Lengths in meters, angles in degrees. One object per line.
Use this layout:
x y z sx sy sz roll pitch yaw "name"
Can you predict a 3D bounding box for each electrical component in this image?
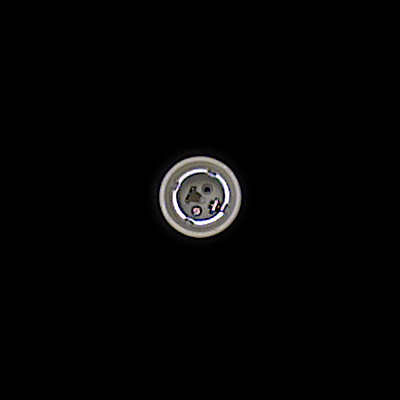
0.000 0.000 0.625 0.044 0.044 0.065 0 -5 1 "electrical component"
